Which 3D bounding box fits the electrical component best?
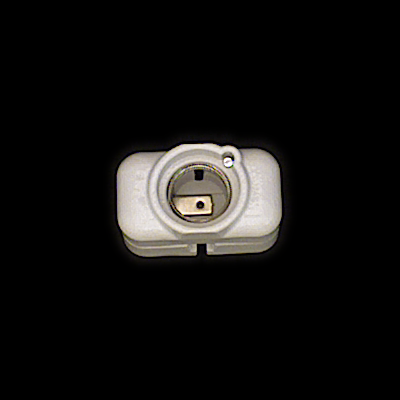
[{"bbox_3d":[0.000,0.000,0.634,0.095,0.054,0.059,-3,-15,-1],"label":"electrical component"}]
